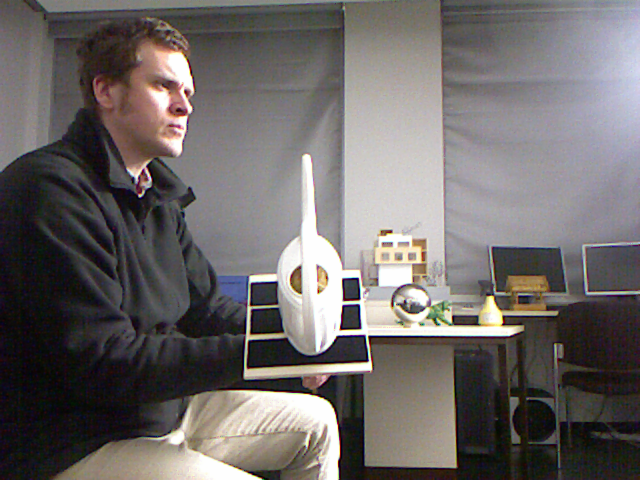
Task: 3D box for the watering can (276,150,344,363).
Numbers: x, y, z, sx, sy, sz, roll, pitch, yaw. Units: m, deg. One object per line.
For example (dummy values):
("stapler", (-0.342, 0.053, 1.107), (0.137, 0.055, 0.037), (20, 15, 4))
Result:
("watering can", (-0.016, 0.041, 0.833), (0.104, 0.357, 0.219), (-1, -38, 0))
